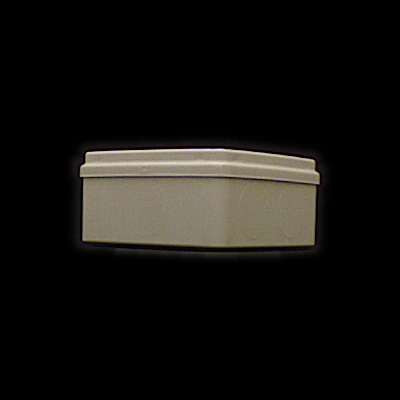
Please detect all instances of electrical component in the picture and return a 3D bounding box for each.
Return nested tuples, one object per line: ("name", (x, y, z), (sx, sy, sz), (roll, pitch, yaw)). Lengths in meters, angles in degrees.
("electrical component", (0.000, 0.000, 0.652), (0.108, 0.056, 0.109), (1, -1, 36))
